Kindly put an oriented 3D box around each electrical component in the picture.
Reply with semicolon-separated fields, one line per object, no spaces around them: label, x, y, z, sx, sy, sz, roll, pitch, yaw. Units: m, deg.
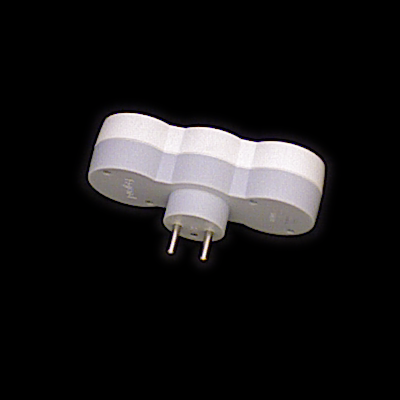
electrical component;0.000;0.000;0.631;0.138;0.074;0.052;11;-25;5
